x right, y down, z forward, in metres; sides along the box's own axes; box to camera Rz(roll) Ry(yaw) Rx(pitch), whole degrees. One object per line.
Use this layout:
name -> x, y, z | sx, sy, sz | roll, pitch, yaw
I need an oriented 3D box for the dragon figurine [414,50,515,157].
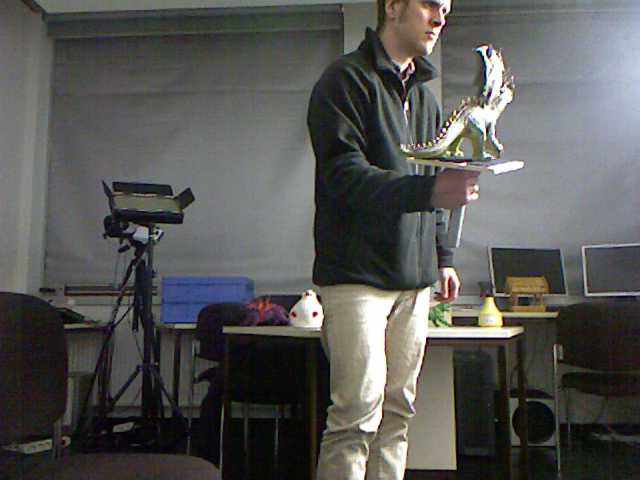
dragon figurine -> 0.346, -0.307, 1.163 | 0.123, 0.240, 0.414 | 20, 21, 34
